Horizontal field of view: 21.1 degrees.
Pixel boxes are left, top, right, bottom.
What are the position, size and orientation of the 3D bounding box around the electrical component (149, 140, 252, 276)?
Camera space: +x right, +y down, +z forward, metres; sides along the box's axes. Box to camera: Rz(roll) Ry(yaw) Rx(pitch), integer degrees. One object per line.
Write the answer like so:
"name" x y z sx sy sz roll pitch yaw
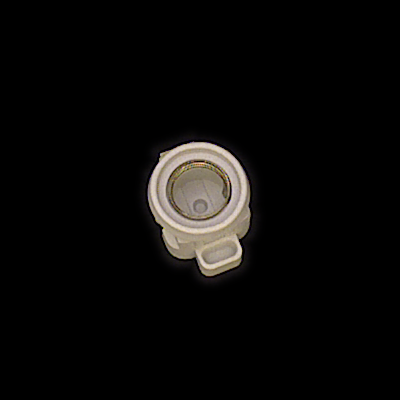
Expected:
"electrical component" 0.000 0.000 0.629 0.058 0.078 0.056 -21 -16 -6
